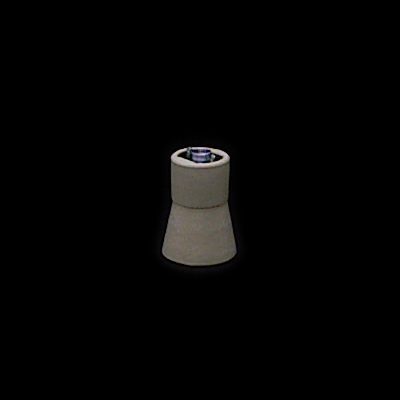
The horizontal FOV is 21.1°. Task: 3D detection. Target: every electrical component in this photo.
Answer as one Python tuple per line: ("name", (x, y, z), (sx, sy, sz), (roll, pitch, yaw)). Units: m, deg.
("electrical component", (0.000, 0.000, 0.637), (0.044, 0.066, 0.044), (0, 22, 0))
